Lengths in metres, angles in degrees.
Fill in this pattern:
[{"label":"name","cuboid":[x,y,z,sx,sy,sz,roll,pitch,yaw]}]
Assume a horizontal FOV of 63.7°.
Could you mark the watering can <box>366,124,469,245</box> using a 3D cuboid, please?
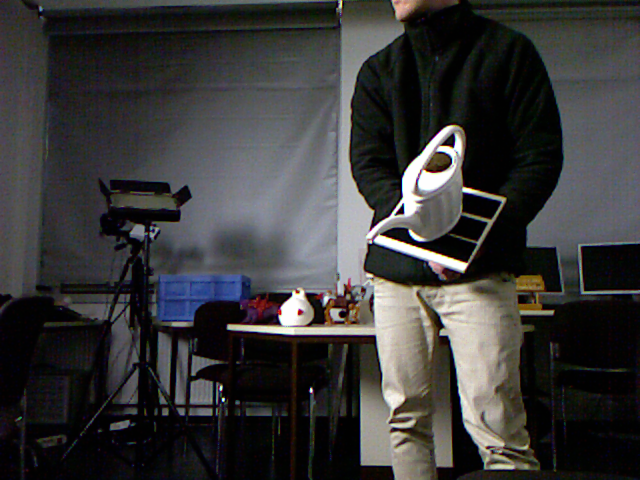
[{"label":"watering can","cuboid":[0.202,-0.073,1.015,0.105,0.354,0.220,24,-28,32]}]
